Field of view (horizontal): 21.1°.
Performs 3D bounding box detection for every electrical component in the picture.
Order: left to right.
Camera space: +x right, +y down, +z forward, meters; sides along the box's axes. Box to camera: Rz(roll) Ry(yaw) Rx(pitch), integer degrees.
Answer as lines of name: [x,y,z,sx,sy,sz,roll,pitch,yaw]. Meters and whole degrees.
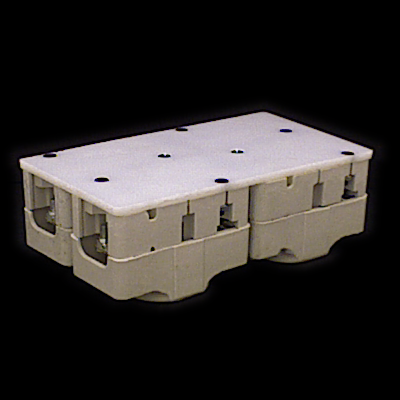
electrical component: [0.000,0.000,0.638,0.186,0.061,0.104,-14,25,-35]
